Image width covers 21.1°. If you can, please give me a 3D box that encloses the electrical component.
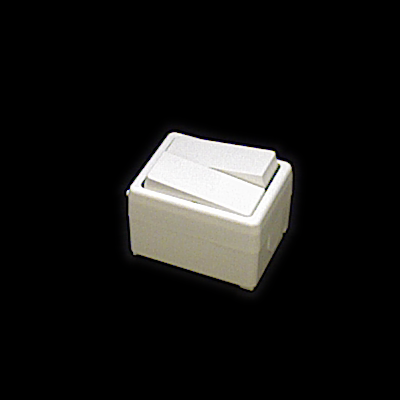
[{"bbox_3d":[0.000,0.000,0.631,0.096,0.061,0.061,16,44,16],"label":"electrical component"}]
